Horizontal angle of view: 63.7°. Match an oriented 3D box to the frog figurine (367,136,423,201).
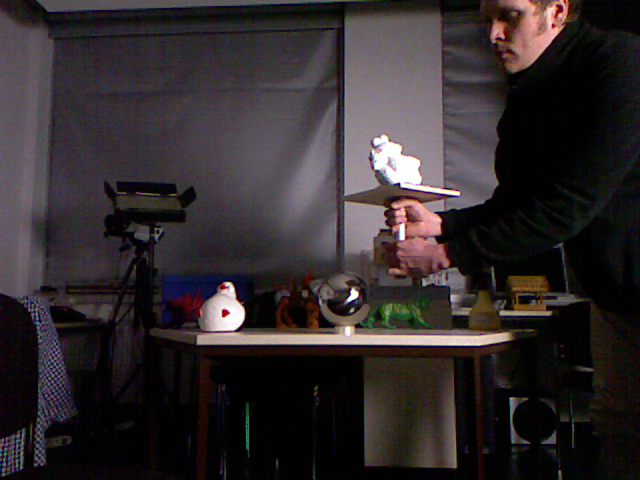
[{"bbox_3d":[0.186,-0.182,1.282,0.138,0.159,0.123,-7,3,-17],"label":"frog figurine"}]
